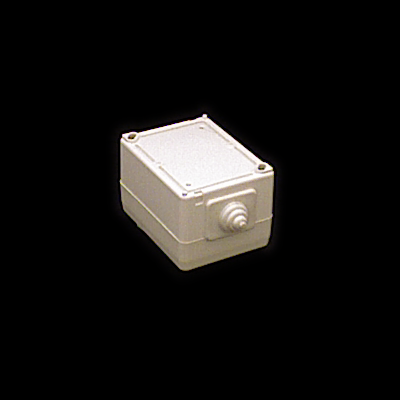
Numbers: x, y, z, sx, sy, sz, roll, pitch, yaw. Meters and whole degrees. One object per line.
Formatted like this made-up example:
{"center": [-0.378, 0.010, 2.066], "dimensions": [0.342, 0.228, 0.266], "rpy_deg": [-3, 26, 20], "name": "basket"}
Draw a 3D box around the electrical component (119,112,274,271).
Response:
{"center": [0.000, 0.000, 0.632], "dimensions": [0.062, 0.061, 0.095], "rpy_deg": [-16, 36, -26], "name": "electrical component"}
